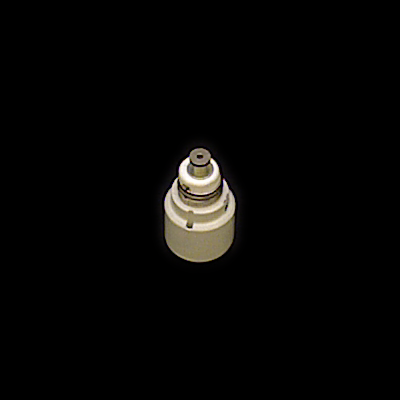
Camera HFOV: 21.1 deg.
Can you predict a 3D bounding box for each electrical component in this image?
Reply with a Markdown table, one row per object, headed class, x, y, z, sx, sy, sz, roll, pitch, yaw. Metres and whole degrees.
| class | x | y | z | sx | sy | sz | roll | pitch | yaw |
| --- | --- | --- | --- | --- | --- | --- | --- | --- | --- |
| electrical component | 0.000 | 0.000 | 0.620 | 0.040 | 0.040 | 0.078 | 0 | -39 | 0 |
